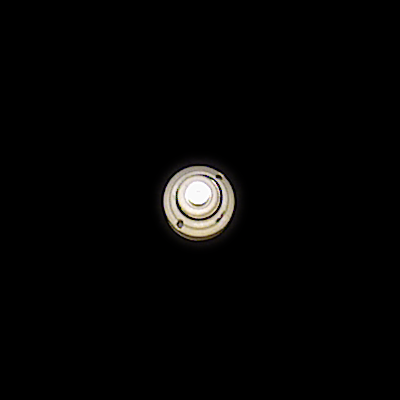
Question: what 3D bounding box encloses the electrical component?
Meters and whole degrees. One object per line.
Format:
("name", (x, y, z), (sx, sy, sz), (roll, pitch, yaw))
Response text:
("electrical component", (0.000, 0.000, 0.618), (0.040, 0.040, 0.078), (0, -7, 0))
